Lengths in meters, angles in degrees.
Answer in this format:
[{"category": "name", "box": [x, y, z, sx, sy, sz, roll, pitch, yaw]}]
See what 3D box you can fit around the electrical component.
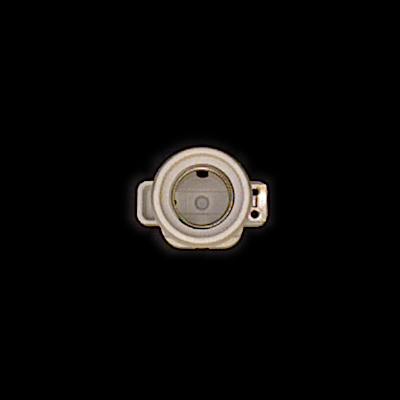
[{"category": "electrical component", "box": [0.000, 0.000, 0.630, 0.078, 0.058, 0.056, 0, -6, 0]}]
